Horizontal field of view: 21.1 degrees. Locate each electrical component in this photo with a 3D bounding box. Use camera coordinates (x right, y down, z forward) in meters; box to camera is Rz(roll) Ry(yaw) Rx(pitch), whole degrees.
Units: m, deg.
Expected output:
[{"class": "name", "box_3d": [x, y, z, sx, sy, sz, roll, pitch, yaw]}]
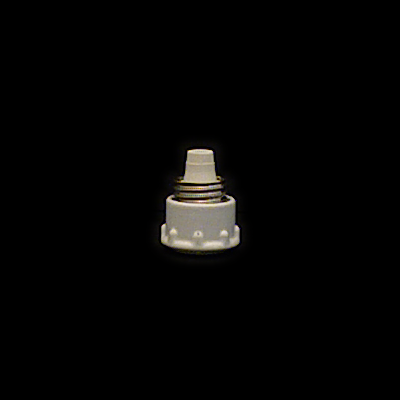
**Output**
[{"class": "electrical component", "box_3d": [0.000, 0.000, 0.650, 0.048, 0.062, 0.048, 1, 11, 1]}]
